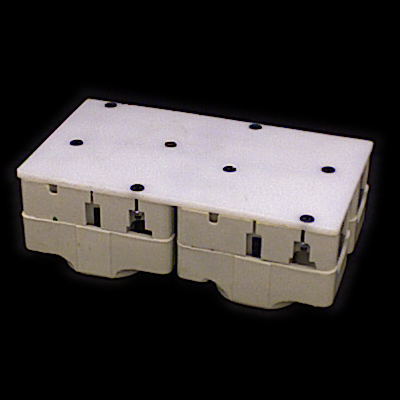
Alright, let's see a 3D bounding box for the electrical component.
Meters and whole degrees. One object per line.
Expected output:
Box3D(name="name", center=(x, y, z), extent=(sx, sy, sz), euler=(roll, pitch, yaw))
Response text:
Box3D(name="electrical component", center=(0.000, 0.000, 0.634), extent=(0.186, 0.061, 0.104), euler=(10, 33, 14))
